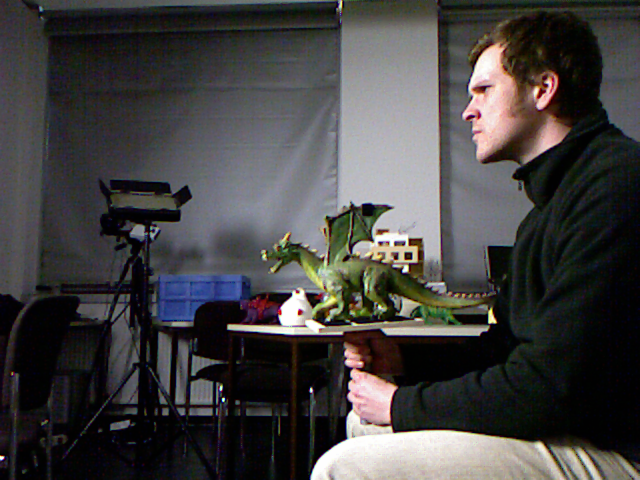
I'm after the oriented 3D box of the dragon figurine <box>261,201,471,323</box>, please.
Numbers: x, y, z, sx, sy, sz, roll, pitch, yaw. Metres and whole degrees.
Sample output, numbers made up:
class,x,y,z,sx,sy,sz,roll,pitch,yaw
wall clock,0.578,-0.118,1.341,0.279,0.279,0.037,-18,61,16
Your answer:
class,x,y,z,sx,sy,sz,roll,pitch,yaw
dragon figurine,0.087,0.040,1.054,0.410,0.244,0.122,-6,-4,3
